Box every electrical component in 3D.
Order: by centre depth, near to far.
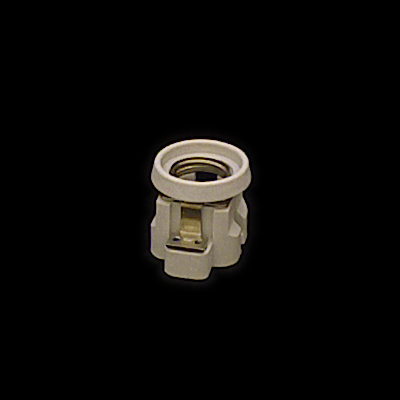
[{"bbox_3d":[0.000,0.000,0.633,0.058,0.057,0.077,7,32,10],"label":"electrical component"}]
